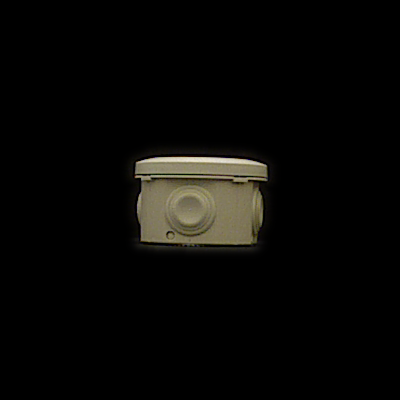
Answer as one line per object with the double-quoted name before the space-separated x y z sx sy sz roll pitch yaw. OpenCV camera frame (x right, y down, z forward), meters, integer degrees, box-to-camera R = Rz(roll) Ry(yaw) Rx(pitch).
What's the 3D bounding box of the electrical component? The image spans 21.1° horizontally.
"electrical component" 0.000 0.000 0.650 0.080 0.051 0.080 1 0 0
